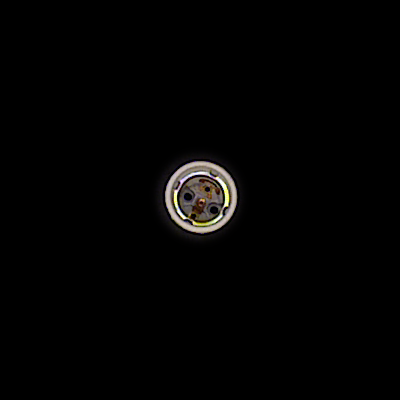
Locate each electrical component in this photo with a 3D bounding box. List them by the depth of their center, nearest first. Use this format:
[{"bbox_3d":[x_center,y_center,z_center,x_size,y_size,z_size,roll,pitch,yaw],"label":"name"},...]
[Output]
[{"bbox_3d":[0.000,0.000,0.627,0.040,0.040,0.046,0,-6,0],"label":"electrical component"}]
